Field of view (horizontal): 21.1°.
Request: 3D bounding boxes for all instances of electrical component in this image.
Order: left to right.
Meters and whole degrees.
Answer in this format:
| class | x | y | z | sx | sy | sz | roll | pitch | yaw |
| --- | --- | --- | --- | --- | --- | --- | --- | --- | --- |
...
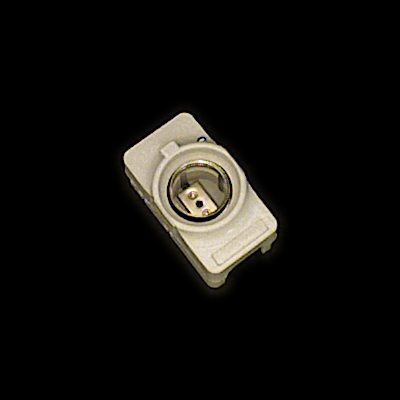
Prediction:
| class | x | y | z | sx | sy | sz | roll | pitch | yaw |
| --- | --- | --- | --- | --- | --- | --- | --- | --- | --- |
| electrical component | 0.000 | 0.000 | 0.636 | 0.050 | 0.089 | 0.055 | -37 | -13 | -10 |
